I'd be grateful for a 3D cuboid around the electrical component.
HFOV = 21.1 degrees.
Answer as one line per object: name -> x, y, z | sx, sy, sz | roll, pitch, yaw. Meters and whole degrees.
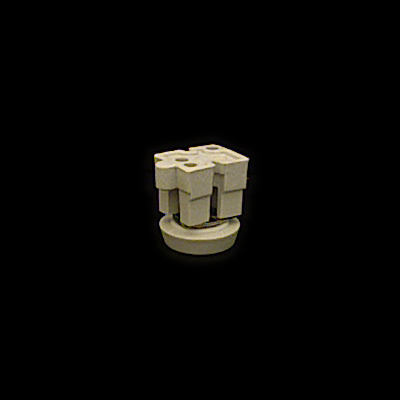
electrical component -> 0.000, 0.000, 0.646 | 0.067, 0.056, 0.047 | -13, 25, -34
